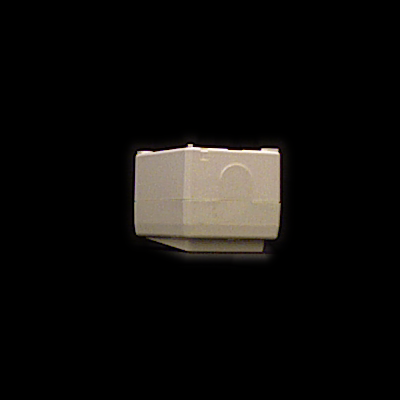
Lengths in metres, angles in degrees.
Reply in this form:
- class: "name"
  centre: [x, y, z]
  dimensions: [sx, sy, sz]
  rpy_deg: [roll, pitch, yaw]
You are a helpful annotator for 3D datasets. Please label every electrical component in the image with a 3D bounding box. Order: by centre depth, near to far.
- class: "electrical component"
  centre: [0.000, 0.000, 0.652]
  dimensions: [0.062, 0.061, 0.096]
  rpy_deg: [1, 0, -26]
